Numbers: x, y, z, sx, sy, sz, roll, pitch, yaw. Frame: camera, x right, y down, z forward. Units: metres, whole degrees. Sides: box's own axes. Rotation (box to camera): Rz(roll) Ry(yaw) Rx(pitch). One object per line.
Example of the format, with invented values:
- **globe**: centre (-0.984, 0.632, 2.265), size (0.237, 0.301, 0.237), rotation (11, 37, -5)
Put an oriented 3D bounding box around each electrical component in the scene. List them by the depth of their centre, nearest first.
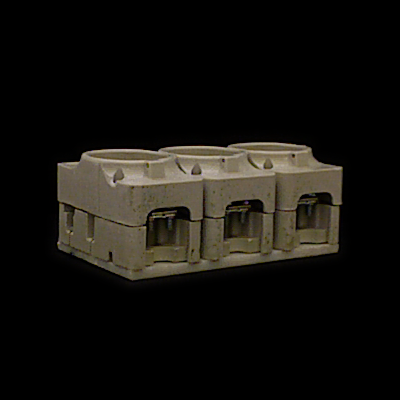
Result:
- **electrical component**: centre (0.000, 0.000, 0.650), size (0.150, 0.062, 0.088), rotation (-6, 13, -34)
